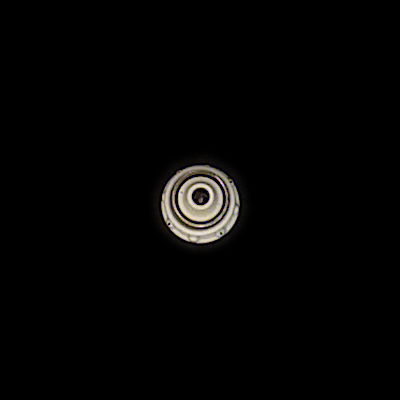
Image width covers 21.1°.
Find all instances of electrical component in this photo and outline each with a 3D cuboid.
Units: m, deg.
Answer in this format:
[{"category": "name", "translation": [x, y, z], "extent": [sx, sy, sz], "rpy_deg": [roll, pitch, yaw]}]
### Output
[{"category": "electrical component", "translation": [0.000, 0.000, 0.635], "extent": [0.048, 0.048, 0.062], "rpy_deg": [0, -5, -1]}]
